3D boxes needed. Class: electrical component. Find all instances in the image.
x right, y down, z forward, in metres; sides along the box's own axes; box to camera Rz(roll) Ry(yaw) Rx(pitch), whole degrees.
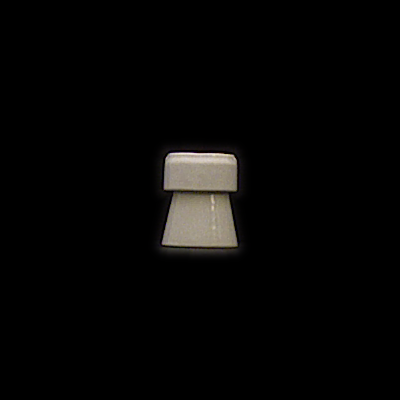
[{"bbox_3d":[0.000,0.000,0.648,0.045,0.055,0.044,1,1,0],"label":"electrical component"}]
